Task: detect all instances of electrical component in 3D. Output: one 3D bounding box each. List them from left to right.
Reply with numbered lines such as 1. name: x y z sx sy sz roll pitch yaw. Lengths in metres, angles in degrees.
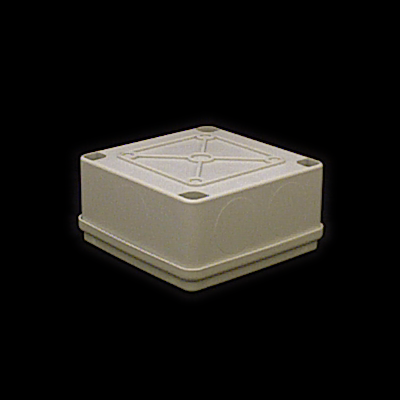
1. electrical component: 0.000 0.000 0.638 0.109 0.057 0.107 -17 27 -38
